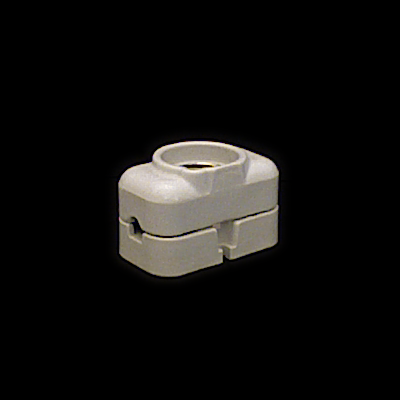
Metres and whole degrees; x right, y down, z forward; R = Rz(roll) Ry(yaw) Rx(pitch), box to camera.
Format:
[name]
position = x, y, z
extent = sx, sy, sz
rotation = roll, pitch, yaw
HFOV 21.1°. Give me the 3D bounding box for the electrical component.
[electrical component]
position = 0.000, 0.000, 0.644
extent = 0.095, 0.060, 0.053
rotation = -15, 27, -35
